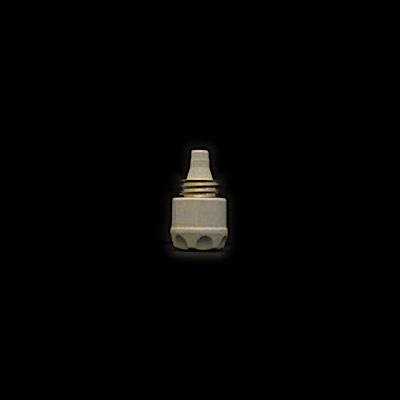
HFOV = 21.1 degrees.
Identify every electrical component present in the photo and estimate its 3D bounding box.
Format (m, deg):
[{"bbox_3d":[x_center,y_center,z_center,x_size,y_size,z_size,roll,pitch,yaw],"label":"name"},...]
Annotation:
[{"bbox_3d":[0.000,0.000,0.661,0.035,0.061,0.035,1,0,0],"label":"electrical component"}]
